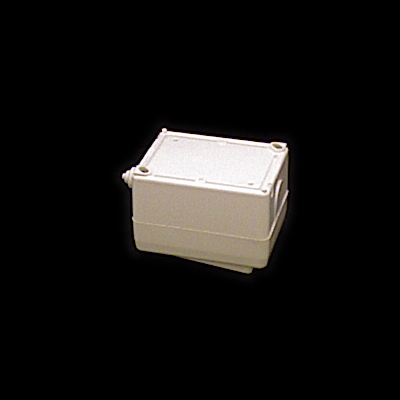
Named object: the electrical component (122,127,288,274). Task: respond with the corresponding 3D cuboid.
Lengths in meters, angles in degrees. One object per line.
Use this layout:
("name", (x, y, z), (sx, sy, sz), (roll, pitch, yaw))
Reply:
("electrical component", (0.000, 0.000, 0.637), (0.096, 0.061, 0.061), (8, 32, 13))
